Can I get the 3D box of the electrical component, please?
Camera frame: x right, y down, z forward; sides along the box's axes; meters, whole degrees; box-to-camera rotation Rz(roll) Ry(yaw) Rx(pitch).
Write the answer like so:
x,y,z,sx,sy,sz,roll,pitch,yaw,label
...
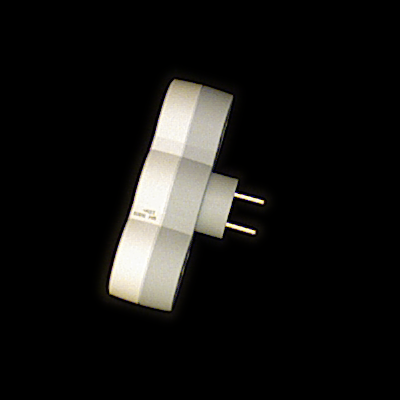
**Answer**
x,y,z,sx,sy,sz,roll,pitch,yaw,label
0.000,0.000,0.637,0.073,0.139,0.052,16,-16,3,electrical component
